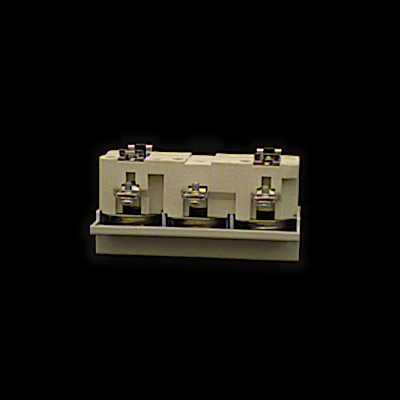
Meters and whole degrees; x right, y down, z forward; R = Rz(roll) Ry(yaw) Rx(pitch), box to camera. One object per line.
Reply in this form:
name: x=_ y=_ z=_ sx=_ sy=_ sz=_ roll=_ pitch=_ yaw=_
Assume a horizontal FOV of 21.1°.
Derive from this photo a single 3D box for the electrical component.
electrical component: x=0.000 y=0.000 z=0.654 sx=0.121 sy=0.063 sz=0.078 roll=2 pitch=10 yaw=4
